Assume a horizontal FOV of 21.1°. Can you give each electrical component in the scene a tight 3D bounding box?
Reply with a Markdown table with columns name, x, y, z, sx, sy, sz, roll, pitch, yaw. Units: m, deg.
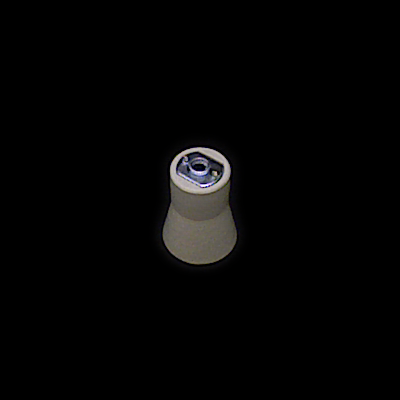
| name | x | y | z | sx | sy | sz | roll | pitch | yaw |
| --- | --- | --- | --- | --- | --- | --- | --- | --- | --- |
| electrical component | 0.000 | 0.000 | 0.627 | 0.044 | 0.044 | 0.065 | 0 | -39 | -1 |
